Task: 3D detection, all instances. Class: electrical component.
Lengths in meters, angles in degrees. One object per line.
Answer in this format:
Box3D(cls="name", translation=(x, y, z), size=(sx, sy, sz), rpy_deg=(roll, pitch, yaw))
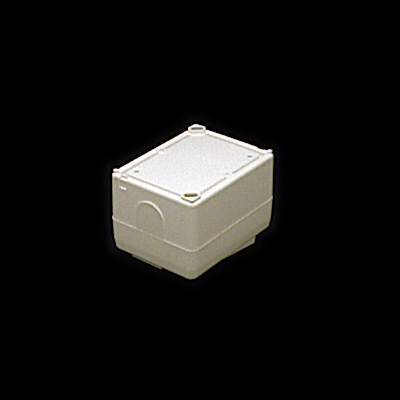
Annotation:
Box3D(cls="electrical component", translation=(0.000, 0.000, 0.641), size=(0.061, 0.062, 0.095), rpy_deg=(22, 37, 32))
